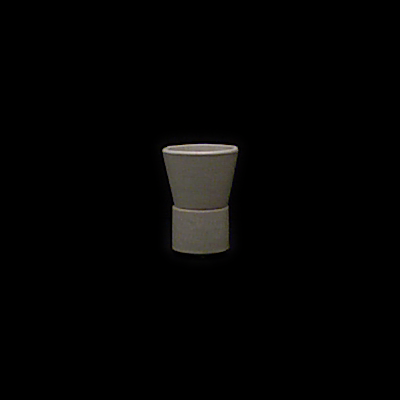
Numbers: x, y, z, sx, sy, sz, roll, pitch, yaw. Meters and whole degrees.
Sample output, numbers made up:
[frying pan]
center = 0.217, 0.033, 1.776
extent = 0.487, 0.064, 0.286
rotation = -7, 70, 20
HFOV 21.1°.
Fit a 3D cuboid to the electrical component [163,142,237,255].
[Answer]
[electrical component]
center = 0.000, 0.000, 0.643
extent = 0.044, 0.066, 0.044
rotation = 0, 11, 0
